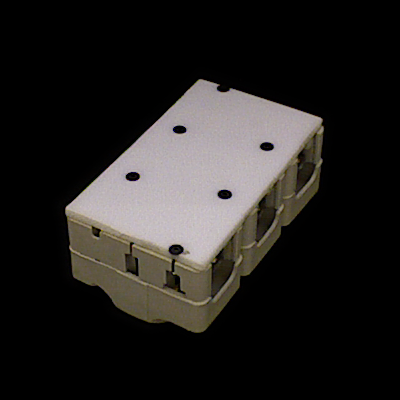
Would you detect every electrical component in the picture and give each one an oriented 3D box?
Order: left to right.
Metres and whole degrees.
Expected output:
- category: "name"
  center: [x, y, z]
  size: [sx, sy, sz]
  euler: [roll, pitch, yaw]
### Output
- category: "electrical component"
  center: [0.000, 0.000, 0.639]
  size: [0.089, 0.063, 0.148]
  euler: [22, 45, 22]
